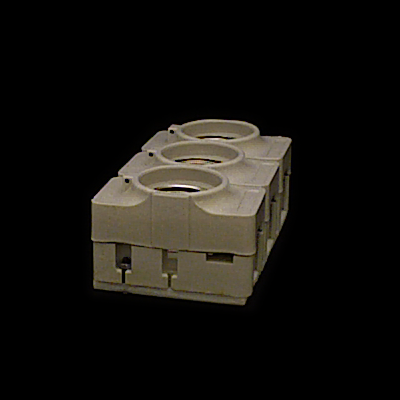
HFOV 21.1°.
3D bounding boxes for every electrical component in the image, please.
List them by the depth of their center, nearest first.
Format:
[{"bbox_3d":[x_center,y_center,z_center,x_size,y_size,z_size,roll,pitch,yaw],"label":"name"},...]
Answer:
[{"bbox_3d":[0.000,0.000,0.645,0.089,0.063,0.147,5,20,11],"label":"electrical component"}]
